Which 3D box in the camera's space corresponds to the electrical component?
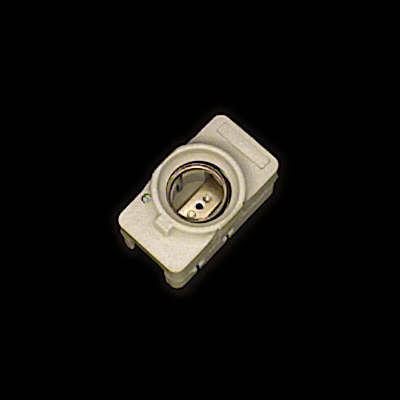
[{"bbox_3d":[0.000,0.000,0.636,0.050,0.090,0.055,41,-12,11],"label":"electrical component"}]
